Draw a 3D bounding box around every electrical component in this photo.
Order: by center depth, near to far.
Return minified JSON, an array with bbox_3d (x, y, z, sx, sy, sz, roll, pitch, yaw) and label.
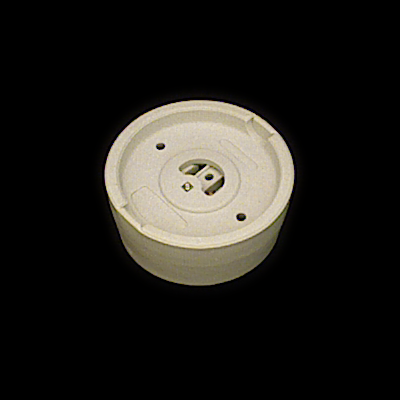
[{"bbox_3d":[0.000,0.000,0.633,0.108,0.107,0.060,0,-37,-1],"label":"electrical component"}]
